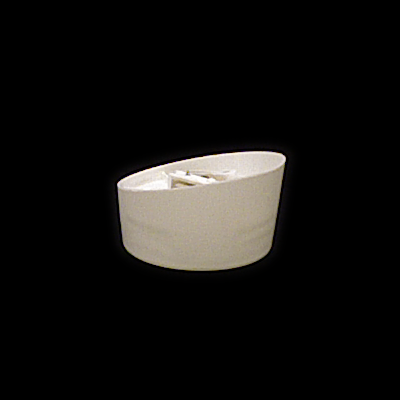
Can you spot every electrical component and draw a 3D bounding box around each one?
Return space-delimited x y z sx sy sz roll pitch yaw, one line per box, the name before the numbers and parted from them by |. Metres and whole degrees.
electrical component | 0.000 0.000 0.638 0.099 0.065 0.097 2 21 -1
